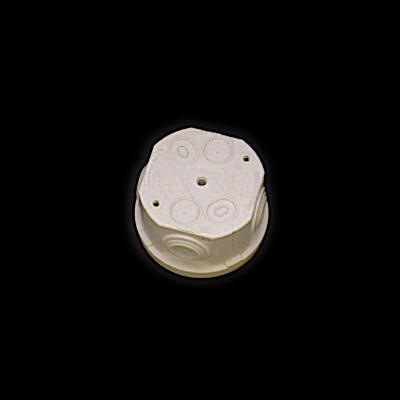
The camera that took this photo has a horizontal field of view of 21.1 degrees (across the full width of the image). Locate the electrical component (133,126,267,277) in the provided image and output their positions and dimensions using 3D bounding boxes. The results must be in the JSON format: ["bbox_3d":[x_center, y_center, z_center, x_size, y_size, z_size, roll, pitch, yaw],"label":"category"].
[{"bbox_3d":[0.000,0.000,0.632,0.080,0.080,0.050,0,-28,-1],"label":"electrical component"}]
